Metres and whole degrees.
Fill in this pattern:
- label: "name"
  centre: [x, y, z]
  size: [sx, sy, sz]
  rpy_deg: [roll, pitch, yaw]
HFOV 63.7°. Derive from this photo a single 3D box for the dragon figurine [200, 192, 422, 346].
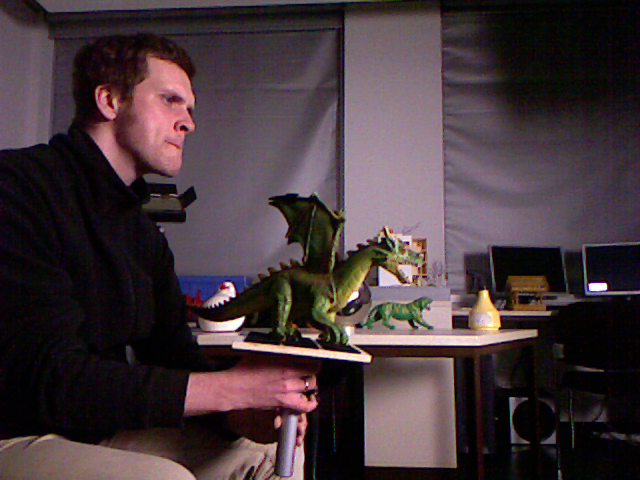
- label: "dragon figurine"
  centre: [-0.038, 0.043, 0.851]
  size: [0.410, 0.244, 0.122]
  rpy_deg: [4, -4, 27]
